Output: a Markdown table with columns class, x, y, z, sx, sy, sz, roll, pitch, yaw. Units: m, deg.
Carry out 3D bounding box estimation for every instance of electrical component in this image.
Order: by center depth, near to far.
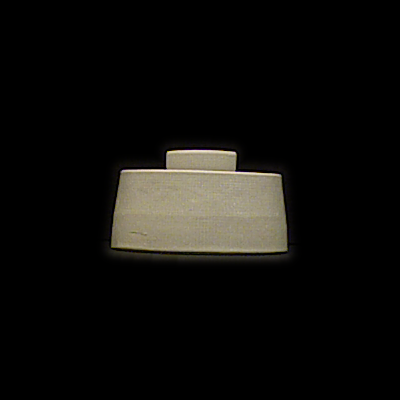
| class | x | y | z | sx | sy | sz | roll | pitch | yaw |
| --- | --- | --- | --- | --- | --- | --- | --- | --- | --- |
| electrical component | 0.000 | 0.000 | 0.658 | 0.108 | 0.060 | 0.108 | 1 | 0 | 1 |
